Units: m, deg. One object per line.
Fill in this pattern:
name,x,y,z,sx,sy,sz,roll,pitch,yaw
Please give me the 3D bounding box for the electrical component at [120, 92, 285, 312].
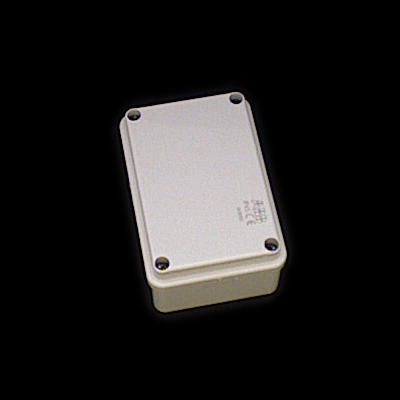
electrical component,0.000,0.000,0.627,0.078,0.113,0.057,-10,-27,-5
